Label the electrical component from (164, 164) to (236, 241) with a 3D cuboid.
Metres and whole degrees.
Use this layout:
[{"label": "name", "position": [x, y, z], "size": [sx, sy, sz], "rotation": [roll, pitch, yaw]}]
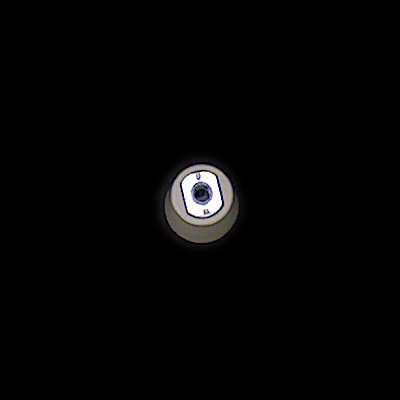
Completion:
[{"label": "electrical component", "position": [0.000, 0.000, 0.626], "size": [0.044, 0.044, 0.065], "rotation": [0, -7, 0]}]
